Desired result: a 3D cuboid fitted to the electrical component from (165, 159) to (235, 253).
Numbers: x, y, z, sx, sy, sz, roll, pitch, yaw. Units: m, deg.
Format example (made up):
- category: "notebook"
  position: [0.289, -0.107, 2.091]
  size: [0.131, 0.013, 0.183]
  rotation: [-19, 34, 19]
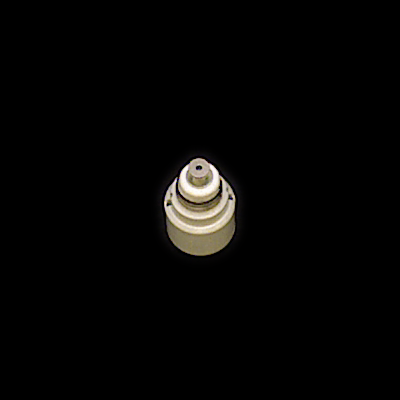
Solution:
- category: "electrical component"
  position: [0.000, 0.000, 0.618]
  size: [0.040, 0.040, 0.078]
  rotation: [0, -27, 1]
